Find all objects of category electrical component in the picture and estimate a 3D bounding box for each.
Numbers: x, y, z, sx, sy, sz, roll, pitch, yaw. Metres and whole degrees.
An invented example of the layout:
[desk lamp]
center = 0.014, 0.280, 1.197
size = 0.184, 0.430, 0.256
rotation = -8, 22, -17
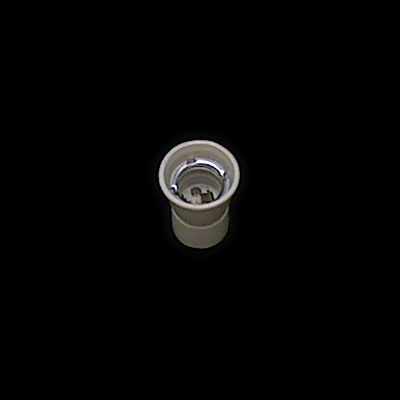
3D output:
[electrical component]
center = 0.000, 0.000, 0.625
size = 0.044, 0.044, 0.065
rotation = 0, -28, 1
